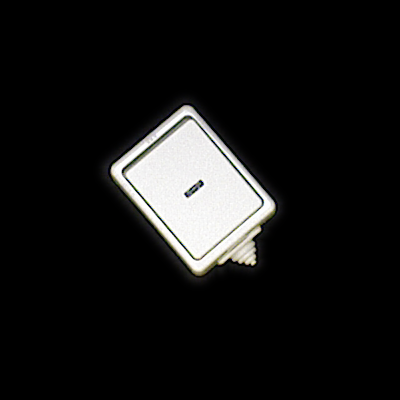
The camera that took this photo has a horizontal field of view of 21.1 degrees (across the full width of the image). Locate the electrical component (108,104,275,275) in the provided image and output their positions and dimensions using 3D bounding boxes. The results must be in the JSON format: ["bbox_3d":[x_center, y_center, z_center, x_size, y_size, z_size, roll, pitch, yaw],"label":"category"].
[{"bbox_3d":[0.000,0.000,0.626,0.062,0.096,0.061,-40,-5,-4],"label":"electrical component"}]
